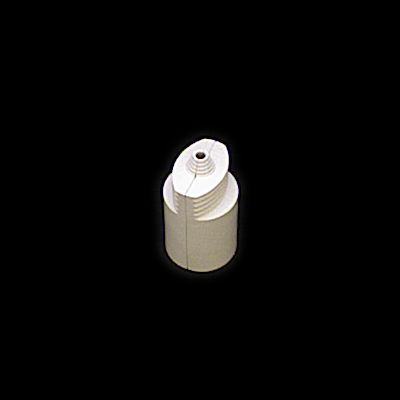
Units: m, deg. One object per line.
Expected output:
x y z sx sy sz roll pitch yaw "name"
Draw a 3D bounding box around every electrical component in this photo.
0.000 0.000 0.620 0.043 0.043 0.081 0 -38 0 "electrical component"
